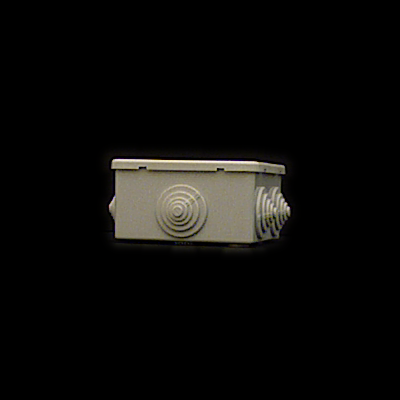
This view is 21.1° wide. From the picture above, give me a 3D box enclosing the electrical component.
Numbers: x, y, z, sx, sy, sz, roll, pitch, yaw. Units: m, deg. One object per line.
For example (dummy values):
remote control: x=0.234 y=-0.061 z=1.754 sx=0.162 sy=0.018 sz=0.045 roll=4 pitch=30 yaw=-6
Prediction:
electrical component: x=0.000 y=0.000 z=0.656 sx=0.099 sy=0.048 sz=0.100 roll=2 pitch=1 yaw=15
